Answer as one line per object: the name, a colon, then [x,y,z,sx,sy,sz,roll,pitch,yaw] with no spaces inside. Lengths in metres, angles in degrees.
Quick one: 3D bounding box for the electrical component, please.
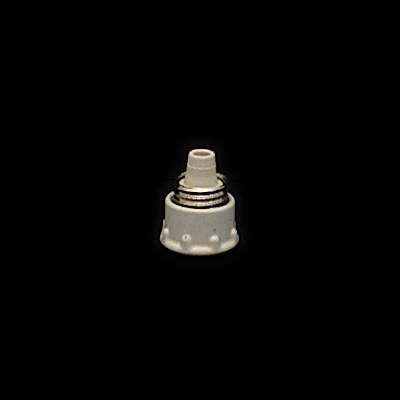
electrical component: [0.000,0.000,0.645,0.048,0.063,0.047,1,23,0]
